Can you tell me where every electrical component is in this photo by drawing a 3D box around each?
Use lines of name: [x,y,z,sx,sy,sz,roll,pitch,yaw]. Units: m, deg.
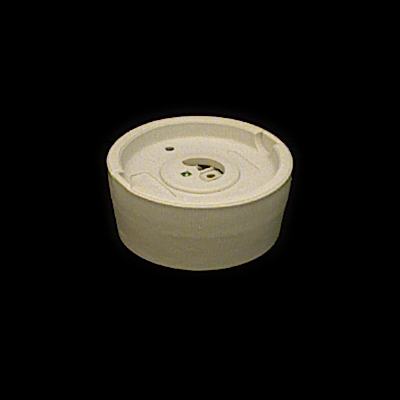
electrical component: [0.000,0.000,0.638,0.108,0.061,0.106,1,32,0]
